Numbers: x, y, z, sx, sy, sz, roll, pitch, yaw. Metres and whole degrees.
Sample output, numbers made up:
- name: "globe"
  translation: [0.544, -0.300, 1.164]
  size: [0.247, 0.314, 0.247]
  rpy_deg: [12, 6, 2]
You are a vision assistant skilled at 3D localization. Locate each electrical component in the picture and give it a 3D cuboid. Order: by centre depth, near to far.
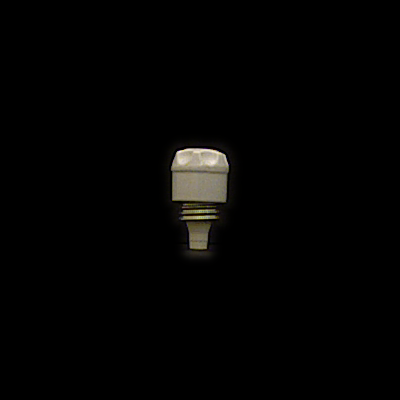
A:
- name: "electrical component"
  translation: [0.000, 0.000, 0.659]
  size: [0.035, 0.061, 0.035]
  rpy_deg: [1, 1, 0]
